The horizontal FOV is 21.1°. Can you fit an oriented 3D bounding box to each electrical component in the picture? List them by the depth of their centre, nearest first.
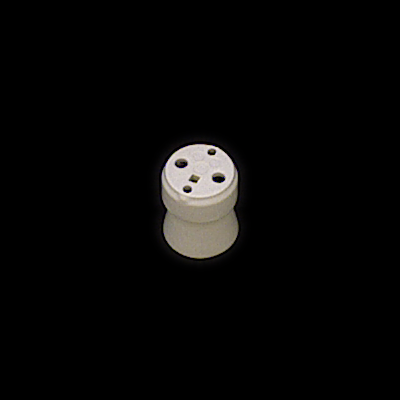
[{"bbox_3d":[0.000,0.000,0.630,0.045,0.044,0.055,0,-38,0],"label":"electrical component"}]
